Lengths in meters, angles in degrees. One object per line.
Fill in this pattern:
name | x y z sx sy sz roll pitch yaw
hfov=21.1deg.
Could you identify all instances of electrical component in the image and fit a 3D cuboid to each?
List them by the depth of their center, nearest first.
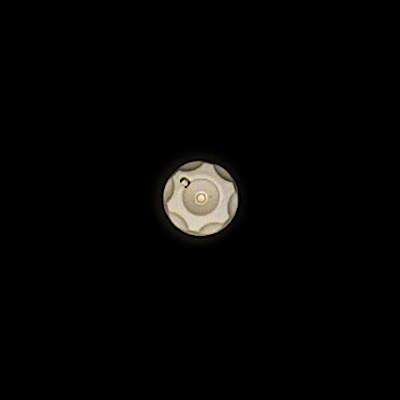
electrical component | 0.000 0.000 0.635 0.043 0.043 0.062 0 -5 0
